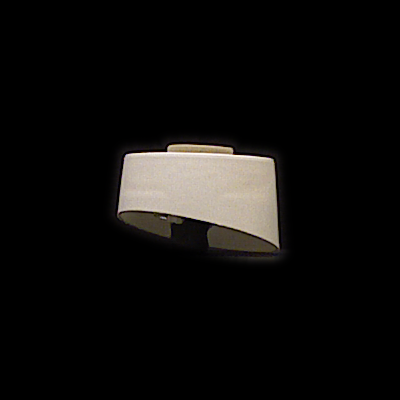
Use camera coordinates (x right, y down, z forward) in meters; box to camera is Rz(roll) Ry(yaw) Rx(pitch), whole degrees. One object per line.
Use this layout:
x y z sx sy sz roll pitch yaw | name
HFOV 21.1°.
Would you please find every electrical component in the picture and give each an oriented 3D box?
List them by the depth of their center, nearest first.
0.000 0.000 0.649 0.099 0.064 0.099 2 0 0 | electrical component
